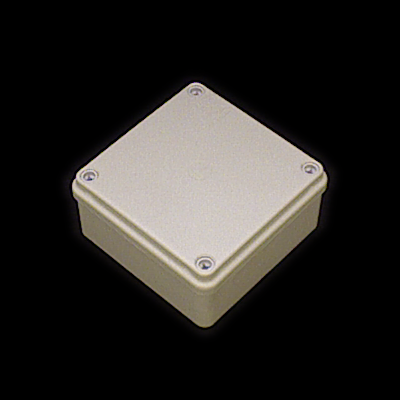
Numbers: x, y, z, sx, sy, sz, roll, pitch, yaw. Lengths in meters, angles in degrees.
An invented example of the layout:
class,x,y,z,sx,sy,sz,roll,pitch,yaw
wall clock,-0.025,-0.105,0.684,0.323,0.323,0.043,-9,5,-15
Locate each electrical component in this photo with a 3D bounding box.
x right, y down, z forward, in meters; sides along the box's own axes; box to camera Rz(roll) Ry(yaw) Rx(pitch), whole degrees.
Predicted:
class,x,y,z,sx,sy,sz,roll,pitch,yaw
electrical component,0.000,0.000,0.629,0.108,0.056,0.109,36,60,24
